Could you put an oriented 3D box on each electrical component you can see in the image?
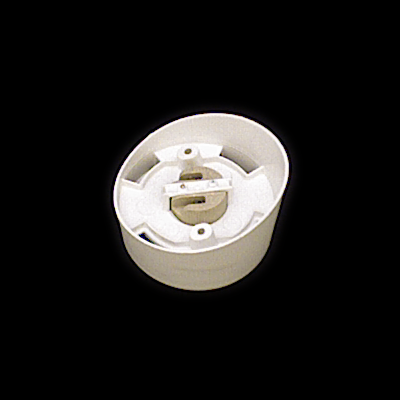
[{"bbox_3d":[0.000,0.000,0.626,0.099,0.098,0.064,0,-38,-2],"label":"electrical component"}]
